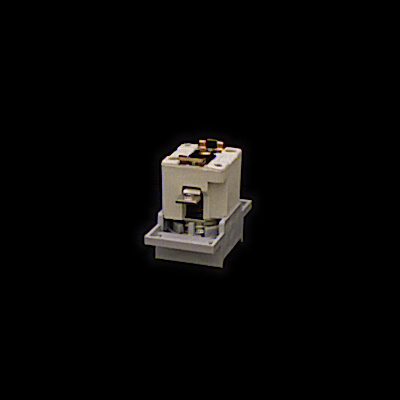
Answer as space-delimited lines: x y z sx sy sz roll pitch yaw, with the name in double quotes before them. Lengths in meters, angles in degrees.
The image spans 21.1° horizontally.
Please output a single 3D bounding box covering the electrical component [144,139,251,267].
"electrical component" 0.000 0.000 0.639 0.042 0.064 0.080 7 22 16
